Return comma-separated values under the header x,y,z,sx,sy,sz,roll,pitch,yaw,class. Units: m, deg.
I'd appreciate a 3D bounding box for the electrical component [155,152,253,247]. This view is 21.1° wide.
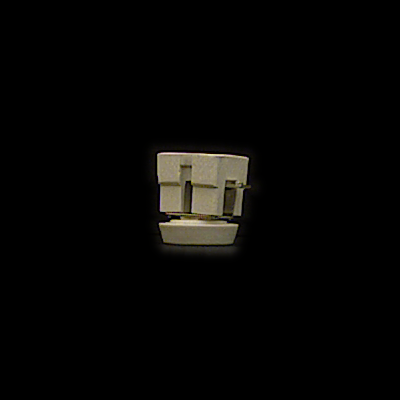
x,y,z,sx,sy,sz,roll,pitch,yaw,class
0.000,0.000,0.656,0.066,0.055,0.049,3,2,33,electrical component
